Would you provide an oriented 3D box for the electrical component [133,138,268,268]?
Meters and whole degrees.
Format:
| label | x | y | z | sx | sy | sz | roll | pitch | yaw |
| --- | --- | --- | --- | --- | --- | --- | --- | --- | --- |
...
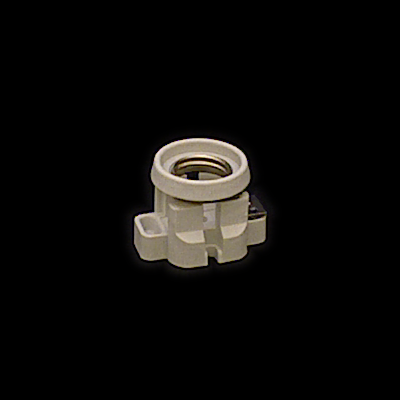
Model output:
| label | x | y | z | sx | sy | sz | roll | pitch | yaw |
| --- | --- | --- | --- | --- | --- | --- | --- | --- | --- |
| electrical component | 0.000 | 0.000 | 0.636 | 0.078 | 0.057 | 0.057 | -8 | 33 | -15 |
